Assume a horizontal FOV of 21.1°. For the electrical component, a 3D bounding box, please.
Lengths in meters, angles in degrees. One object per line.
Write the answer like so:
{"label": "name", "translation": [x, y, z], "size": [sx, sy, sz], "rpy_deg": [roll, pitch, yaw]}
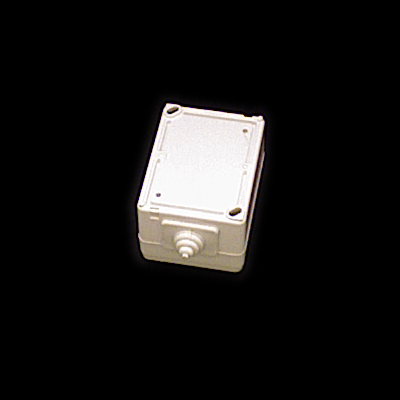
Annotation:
{"label": "electrical component", "translation": [0.000, 0.000, 0.628], "size": [0.061, 0.096, 0.061], "rpy_deg": [8, -37, 6]}
